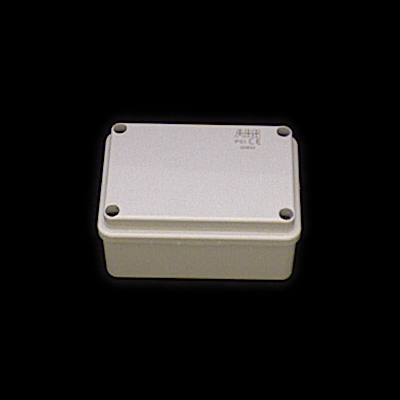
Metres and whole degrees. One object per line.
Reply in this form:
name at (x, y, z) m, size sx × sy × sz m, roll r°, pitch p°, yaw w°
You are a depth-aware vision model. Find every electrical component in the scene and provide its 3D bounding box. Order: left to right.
electrical component at (0.000, 0.000, 0.630) m, size 0.113 × 0.077 × 0.057 m, roll 1°, pitch -38°, yaw 0°
